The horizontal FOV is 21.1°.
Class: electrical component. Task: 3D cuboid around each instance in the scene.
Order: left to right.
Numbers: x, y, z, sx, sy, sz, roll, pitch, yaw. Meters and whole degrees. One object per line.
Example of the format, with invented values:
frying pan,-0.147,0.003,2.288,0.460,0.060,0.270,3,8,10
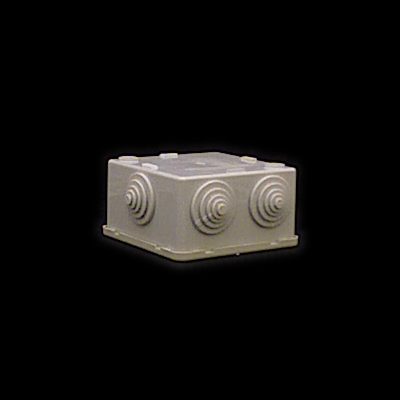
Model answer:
electrical component,0.000,0.000,0.646,0.100,0.049,0.099,-6,13,-34
